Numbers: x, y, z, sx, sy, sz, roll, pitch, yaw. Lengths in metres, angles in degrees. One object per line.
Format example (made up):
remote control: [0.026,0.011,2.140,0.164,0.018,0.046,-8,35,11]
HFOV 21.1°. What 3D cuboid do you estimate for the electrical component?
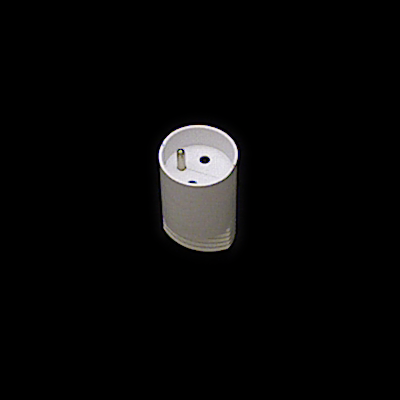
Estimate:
electrical component: [0.000,0.000,0.618,0.043,0.043,0.081,0,-39,0]
